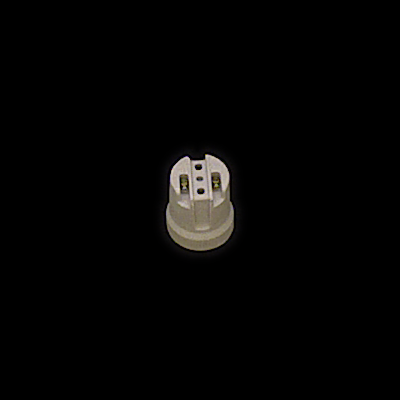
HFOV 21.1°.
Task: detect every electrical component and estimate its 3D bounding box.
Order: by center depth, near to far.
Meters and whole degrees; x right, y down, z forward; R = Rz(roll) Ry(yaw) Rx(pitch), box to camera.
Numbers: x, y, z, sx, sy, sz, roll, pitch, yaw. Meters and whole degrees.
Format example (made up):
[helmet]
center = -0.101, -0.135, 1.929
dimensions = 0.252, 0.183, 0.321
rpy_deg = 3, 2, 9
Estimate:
[electrical component]
center = 0.000, 0.000, 0.633
dimensions = 0.040, 0.040, 0.046
rpy_deg = 0, -38, 0
